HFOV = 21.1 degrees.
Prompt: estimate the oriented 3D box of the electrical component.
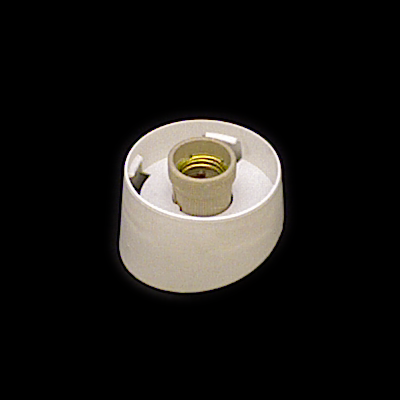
[{"bbox_3d":[0.000,0.000,0.630,0.099,0.065,0.098,0,42,0],"label":"electrical component"}]
